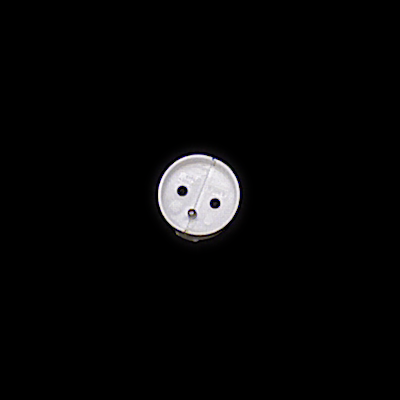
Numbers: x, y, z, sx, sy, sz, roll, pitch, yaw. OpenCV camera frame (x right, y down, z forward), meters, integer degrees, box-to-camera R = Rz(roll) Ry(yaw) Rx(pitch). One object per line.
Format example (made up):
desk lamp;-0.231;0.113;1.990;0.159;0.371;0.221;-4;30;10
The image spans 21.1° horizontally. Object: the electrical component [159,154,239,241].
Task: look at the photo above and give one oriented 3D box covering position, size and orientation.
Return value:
electrical component;0.000;0.000;0.615;0.043;0.043;0.080;0;-6;1
